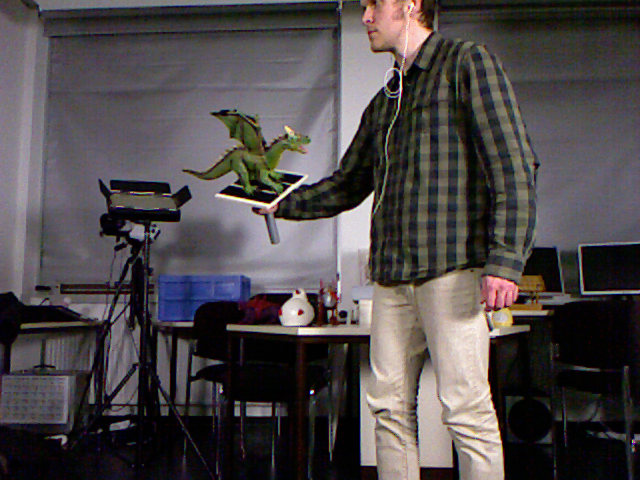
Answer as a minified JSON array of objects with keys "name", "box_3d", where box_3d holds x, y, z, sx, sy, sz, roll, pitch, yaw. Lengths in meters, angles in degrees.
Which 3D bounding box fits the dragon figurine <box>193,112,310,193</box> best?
[{"name":"dragon figurine","box_3d":[-0.221,-0.260,1.476,0.411,0.237,0.125,4,39,19]}]
